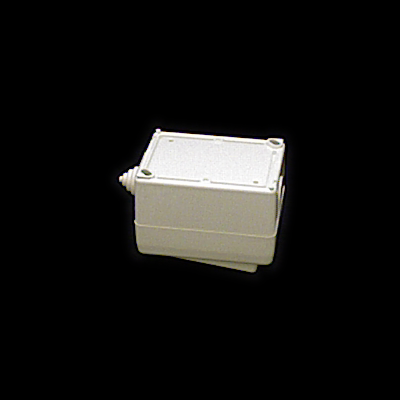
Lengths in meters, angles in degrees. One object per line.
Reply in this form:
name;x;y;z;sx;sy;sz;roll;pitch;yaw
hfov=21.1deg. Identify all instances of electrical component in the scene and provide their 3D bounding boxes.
electrical component;0.000;0.000;0.633;0.096;0.061;0.061;5;32;6
